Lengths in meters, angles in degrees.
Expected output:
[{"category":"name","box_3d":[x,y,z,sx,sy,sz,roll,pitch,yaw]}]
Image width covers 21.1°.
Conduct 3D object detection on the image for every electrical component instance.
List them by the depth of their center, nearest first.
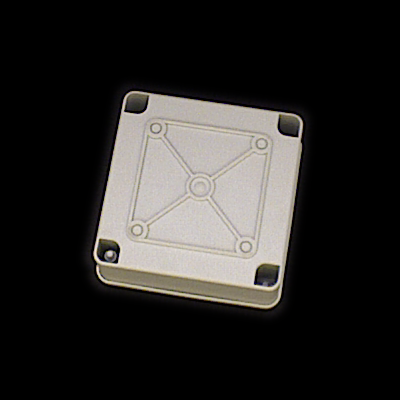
[{"category":"electrical component","box_3d":[0.000,0.000,0.627,0.109,0.109,0.056,9,-17,3]}]
